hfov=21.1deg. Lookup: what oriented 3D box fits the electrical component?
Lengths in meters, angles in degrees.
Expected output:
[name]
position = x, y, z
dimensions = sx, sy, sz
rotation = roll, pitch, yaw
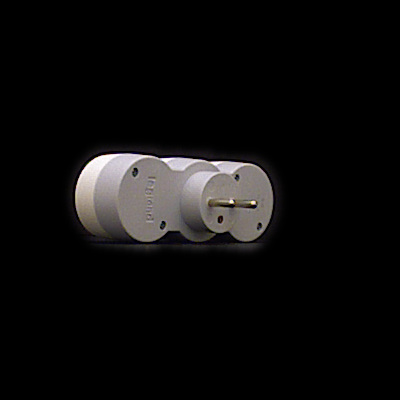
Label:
[electrical component]
position = 0.000, 0.000, 0.653
dimensions = 0.073, 0.052, 0.138
rotation = 4, 1, 44
